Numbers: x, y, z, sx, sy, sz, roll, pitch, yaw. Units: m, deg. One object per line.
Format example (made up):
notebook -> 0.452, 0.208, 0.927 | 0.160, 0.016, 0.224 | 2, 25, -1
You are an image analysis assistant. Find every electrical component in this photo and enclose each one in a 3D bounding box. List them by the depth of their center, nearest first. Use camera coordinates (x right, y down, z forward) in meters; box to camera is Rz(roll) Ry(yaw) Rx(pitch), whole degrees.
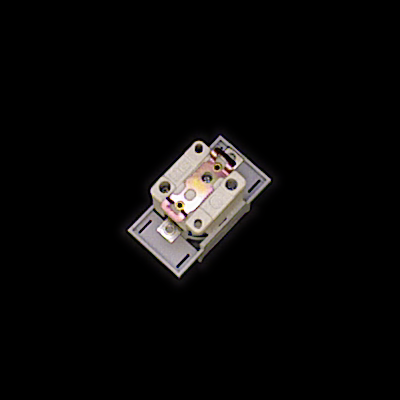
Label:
electrical component -> 0.000, 0.000, 0.625 | 0.042, 0.081, 0.063 | 41, -13, 11
